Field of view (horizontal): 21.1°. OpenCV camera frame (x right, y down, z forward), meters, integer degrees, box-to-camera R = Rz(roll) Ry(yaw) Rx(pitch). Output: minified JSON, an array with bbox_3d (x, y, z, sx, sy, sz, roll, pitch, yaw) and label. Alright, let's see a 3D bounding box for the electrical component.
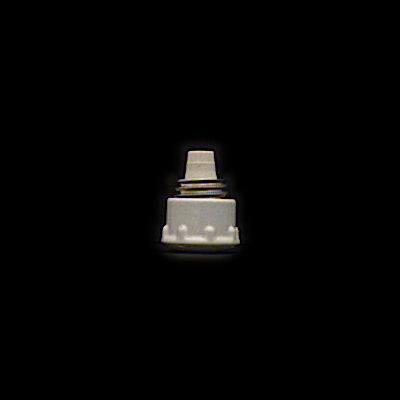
[{"bbox_3d":[0.000,0.000,0.655,0.048,0.062,0.048,0,2,1],"label":"electrical component"}]
